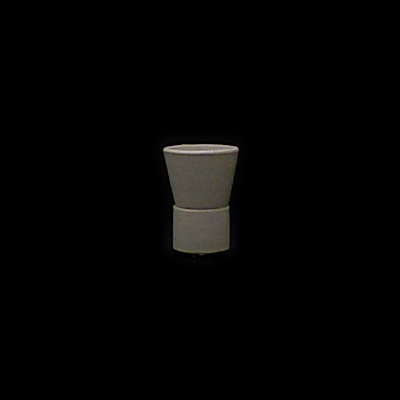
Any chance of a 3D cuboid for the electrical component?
[{"bbox_3d":[0.000,0.000,0.644,0.044,0.066,0.044,0,11,0],"label":"electrical component"}]
